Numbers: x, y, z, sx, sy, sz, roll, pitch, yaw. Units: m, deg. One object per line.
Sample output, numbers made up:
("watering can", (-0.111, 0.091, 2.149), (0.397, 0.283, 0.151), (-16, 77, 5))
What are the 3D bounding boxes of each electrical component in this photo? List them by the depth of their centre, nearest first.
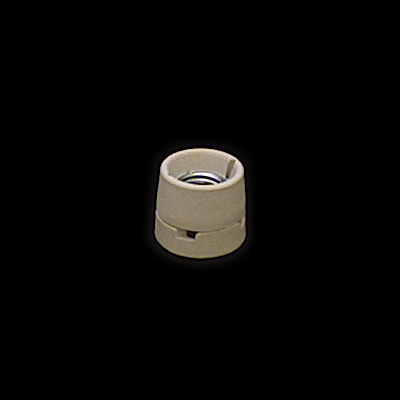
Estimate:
("electrical component", (0.000, 0.000, 0.639), (0.055, 0.047, 0.055), (2, 31, -1))
